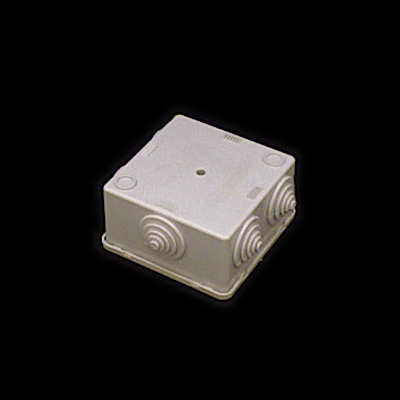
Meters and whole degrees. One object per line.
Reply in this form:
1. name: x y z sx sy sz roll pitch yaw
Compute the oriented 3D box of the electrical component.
1. electrical component: 0.000 0.000 0.635 0.099 0.049 0.099 23 47 22
